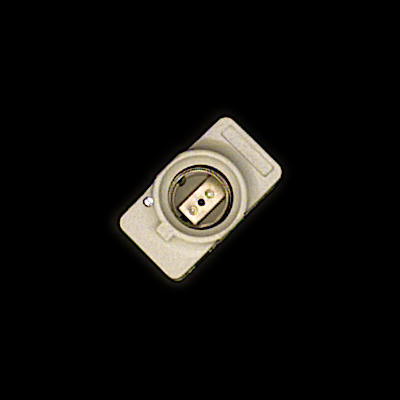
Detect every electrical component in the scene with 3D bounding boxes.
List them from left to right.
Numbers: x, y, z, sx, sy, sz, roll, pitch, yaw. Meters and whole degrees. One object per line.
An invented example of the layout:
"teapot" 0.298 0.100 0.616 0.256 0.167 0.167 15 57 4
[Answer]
"electrical component" 0.000 0.000 0.637 0.050 0.090 0.055 45 -4 4
